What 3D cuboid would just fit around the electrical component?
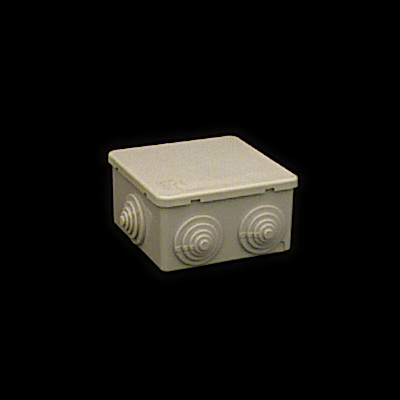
[{"bbox_3d":[0.000,0.000,0.646,0.100,0.049,0.098,-9,24,-23],"label":"electrical component"}]
